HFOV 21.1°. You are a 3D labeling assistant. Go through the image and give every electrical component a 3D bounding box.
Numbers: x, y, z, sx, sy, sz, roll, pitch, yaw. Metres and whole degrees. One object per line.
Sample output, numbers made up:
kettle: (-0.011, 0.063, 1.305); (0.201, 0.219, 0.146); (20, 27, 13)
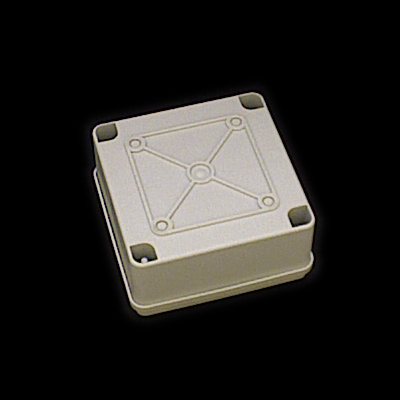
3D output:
electrical component: (0.000, 0.000, 0.627); (0.109, 0.108, 0.056); (-13, -36, -10)
